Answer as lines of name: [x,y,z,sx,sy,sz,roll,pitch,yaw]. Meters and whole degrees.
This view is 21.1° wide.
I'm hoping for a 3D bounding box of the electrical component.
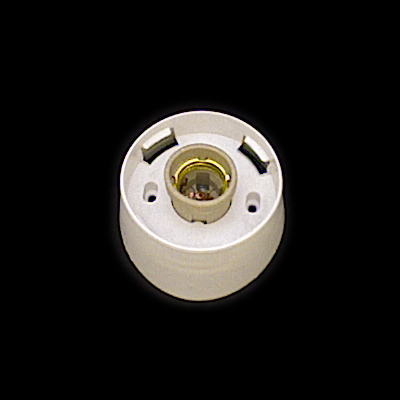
electrical component: [0.000,0.000,0.625,0.099,0.099,0.064,0,-27,0]
